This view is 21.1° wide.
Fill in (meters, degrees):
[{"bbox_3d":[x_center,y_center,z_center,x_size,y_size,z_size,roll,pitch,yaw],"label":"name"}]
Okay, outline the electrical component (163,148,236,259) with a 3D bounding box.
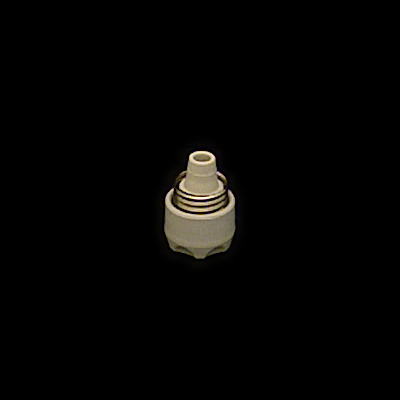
[{"bbox_3d":[0.000,0.000,0.641,0.043,0.063,0.043,2,33,0],"label":"electrical component"}]
